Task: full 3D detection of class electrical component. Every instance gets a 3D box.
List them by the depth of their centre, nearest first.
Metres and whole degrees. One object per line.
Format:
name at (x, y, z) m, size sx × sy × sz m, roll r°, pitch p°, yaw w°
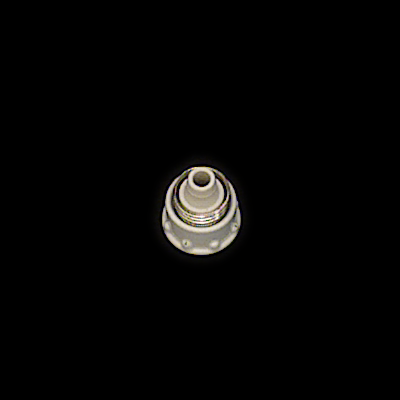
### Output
electrical component at (0.000, 0.000, 0.633) m, size 0.048 × 0.048 × 0.062 m, roll 0°, pitch -26°, yaw 0°
